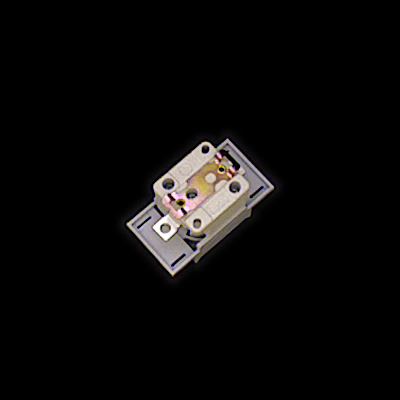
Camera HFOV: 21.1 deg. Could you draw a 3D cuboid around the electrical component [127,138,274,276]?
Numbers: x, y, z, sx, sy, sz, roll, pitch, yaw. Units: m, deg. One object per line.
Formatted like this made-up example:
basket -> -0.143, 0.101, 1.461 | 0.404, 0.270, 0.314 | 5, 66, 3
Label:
electrical component -> 0.000, 0.000, 0.625 | 0.081, 0.042, 0.063 | -41, -13, -11
